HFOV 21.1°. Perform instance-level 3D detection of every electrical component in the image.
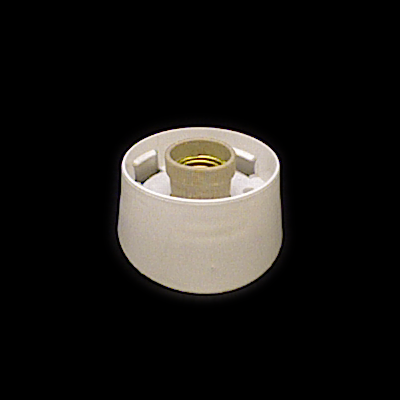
[{"bbox_3d":[0.000,0.000,0.634,0.099,0.065,0.097,1,32,0],"label":"electrical component"}]
